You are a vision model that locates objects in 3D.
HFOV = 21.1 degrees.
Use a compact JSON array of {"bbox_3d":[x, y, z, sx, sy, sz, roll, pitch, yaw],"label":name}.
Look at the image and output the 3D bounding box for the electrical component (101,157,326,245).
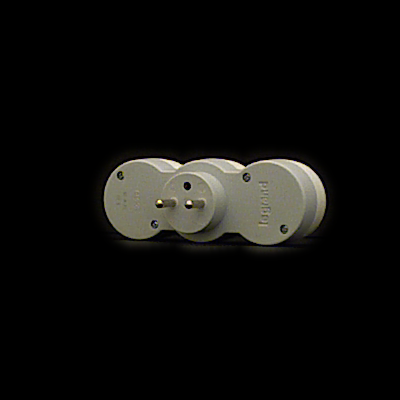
[{"bbox_3d":[0.000,0.000,0.654,0.137,0.052,0.074,2,3,25],"label":"electrical component"}]
